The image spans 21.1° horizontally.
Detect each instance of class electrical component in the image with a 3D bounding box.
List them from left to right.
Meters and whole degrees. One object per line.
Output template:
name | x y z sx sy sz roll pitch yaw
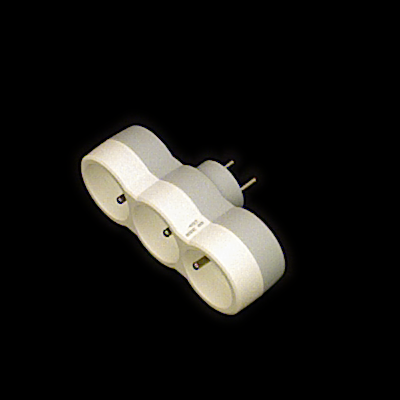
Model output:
electrical component | 0.000 0.000 0.639 0.074 0.052 0.137 -37 62 -26
